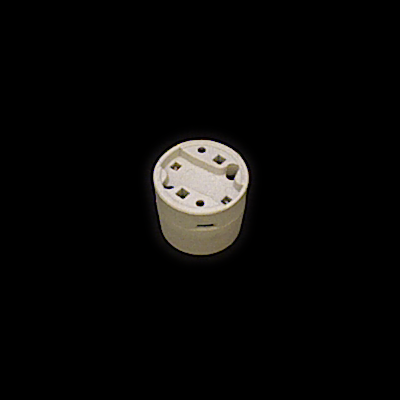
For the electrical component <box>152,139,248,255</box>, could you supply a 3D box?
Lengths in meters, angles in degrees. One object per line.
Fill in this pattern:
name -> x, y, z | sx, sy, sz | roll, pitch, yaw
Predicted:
electrical component -> 0.000, 0.000, 0.635 | 0.055, 0.055, 0.047 | 0, -38, 0
